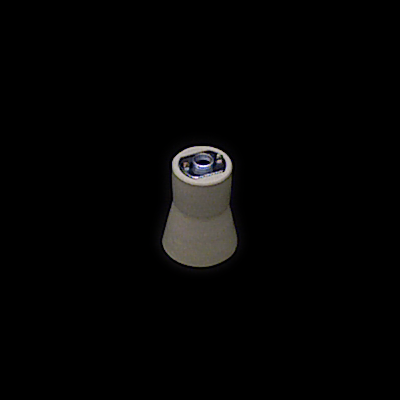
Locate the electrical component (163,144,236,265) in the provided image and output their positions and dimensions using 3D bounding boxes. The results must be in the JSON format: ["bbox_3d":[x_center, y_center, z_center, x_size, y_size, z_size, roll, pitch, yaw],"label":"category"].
[{"bbox_3d":[0.000,0.000,0.628,0.044,0.066,0.044,1,42,-1],"label":"electrical component"}]
